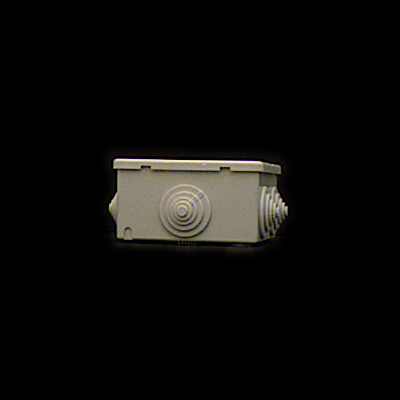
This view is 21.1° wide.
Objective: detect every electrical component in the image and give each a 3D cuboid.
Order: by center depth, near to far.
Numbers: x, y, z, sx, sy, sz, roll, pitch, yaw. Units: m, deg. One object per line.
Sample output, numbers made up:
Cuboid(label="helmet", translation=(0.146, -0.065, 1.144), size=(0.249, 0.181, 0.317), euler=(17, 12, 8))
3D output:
Cuboid(label="electrical component", translation=(0.000, 0.000, 0.657), size=(0.099, 0.048, 0.100), euler=(1, 1, 11))
